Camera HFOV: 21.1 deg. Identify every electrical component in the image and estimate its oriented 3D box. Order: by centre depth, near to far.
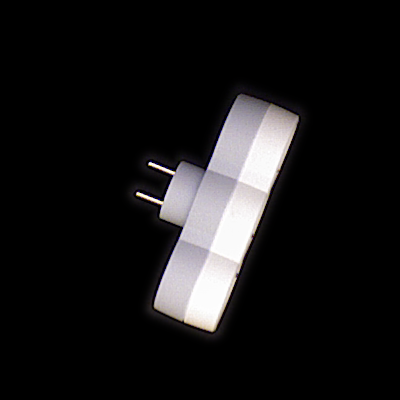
[{"bbox_3d":[0.000,0.000,0.631,0.074,0.138,0.052,21,-6,4],"label":"electrical component"}]
